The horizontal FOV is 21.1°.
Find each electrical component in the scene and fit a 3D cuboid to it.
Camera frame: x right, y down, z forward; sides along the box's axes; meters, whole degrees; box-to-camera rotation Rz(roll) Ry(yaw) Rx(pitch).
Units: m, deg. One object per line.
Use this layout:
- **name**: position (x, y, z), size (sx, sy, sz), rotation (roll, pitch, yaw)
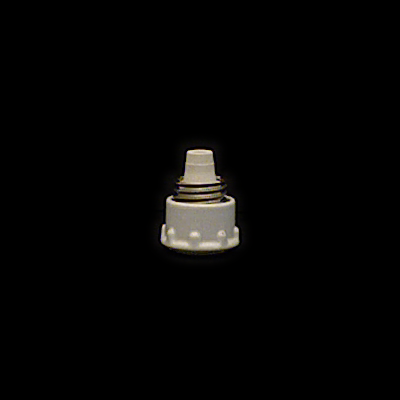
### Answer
- **electrical component**: position (0.000, 0.000, 0.649), size (0.048, 0.062, 0.048), rotation (0, 12, 1)
